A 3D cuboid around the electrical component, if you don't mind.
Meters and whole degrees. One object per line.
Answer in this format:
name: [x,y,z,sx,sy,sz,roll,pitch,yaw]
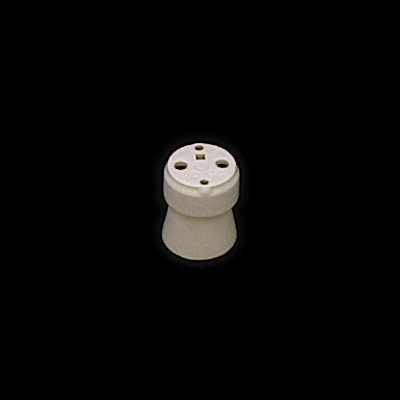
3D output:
electrical component: [0.000,0.000,0.633,0.045,0.055,0.044,1,42,-1]
